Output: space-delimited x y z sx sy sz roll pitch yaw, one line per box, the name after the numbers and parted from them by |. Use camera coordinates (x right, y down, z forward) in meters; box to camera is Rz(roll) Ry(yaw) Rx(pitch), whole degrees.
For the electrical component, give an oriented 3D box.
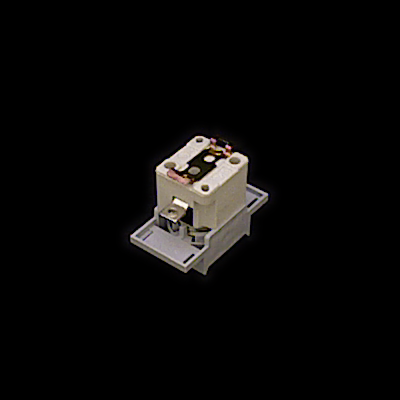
0.000 0.000 0.630 0.042 0.064 0.080 27 48 27 | electrical component
